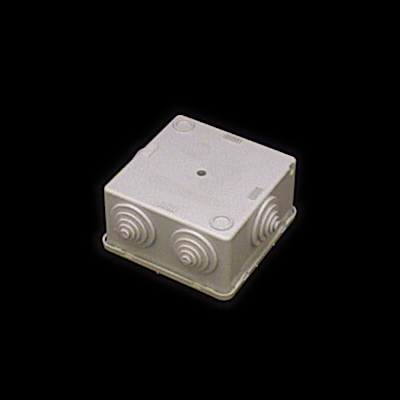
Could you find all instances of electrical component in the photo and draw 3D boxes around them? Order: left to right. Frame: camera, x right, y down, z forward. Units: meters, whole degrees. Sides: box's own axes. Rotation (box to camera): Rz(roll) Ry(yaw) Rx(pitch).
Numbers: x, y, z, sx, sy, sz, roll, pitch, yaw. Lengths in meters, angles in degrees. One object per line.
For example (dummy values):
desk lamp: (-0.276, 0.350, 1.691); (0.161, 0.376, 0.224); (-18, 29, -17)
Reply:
electrical component: (0.000, 0.000, 0.634); (0.099, 0.049, 0.099); (22, 47, 22)
